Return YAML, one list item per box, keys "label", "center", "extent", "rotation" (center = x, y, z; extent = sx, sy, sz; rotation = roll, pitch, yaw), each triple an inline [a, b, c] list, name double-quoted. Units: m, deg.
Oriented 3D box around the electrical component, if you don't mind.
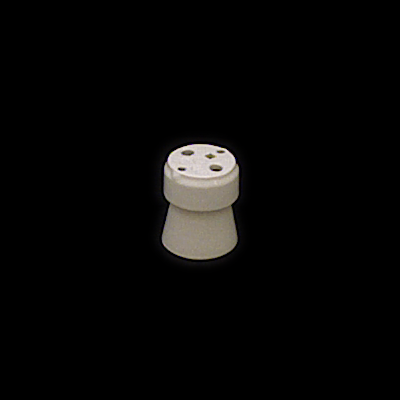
- label: "electrical component"
  center: [0.000, 0.000, 0.635]
  extent: [0.045, 0.056, 0.044]
  rotation: [1, 33, 0]
